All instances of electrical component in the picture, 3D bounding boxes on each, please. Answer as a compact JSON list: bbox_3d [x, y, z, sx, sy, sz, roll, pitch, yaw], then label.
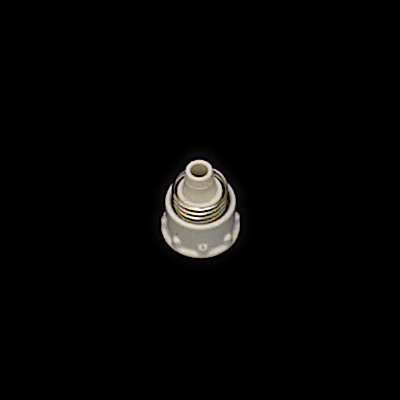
[{"bbox_3d":[0.000,0.000,0.634,0.048,0.048,0.062,0,-36,1],"label":"electrical component"}]
